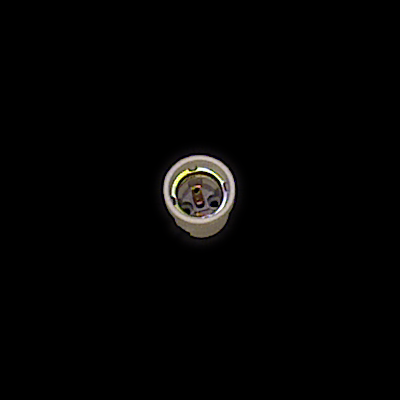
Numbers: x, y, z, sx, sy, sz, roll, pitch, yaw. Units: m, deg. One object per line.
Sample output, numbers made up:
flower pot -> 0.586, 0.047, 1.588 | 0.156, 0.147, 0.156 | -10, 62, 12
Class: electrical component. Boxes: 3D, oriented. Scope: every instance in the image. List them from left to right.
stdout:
electrical component -> 0.000, 0.000, 0.627 | 0.040, 0.040, 0.046 | 0, -17, 0
